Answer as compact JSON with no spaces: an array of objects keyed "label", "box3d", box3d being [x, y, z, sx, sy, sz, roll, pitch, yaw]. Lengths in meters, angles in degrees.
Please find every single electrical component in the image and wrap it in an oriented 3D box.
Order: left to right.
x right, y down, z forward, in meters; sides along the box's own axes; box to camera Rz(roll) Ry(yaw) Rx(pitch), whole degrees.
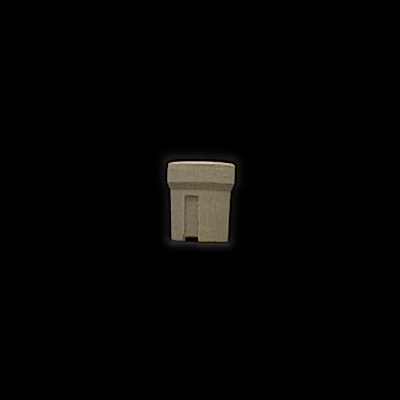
[{"label":"electrical component","box3d":[0.000,0.000,0.651,0.040,0.046,0.040,1,1,0]}]
